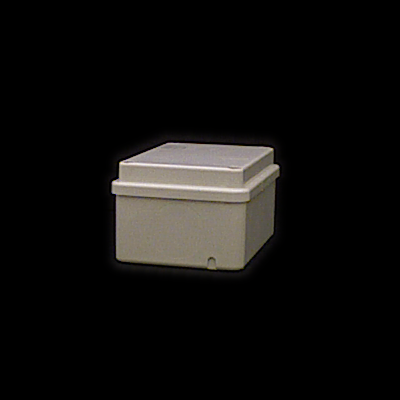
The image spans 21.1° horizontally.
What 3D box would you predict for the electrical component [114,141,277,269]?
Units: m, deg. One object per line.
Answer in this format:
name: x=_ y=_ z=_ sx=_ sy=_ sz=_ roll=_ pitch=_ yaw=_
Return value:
electrical component: x=0.000 y=0.000 z=0.644 sx=0.078 sy=0.057 sz=0.112 roll=4 pitch=11 yaw=13
